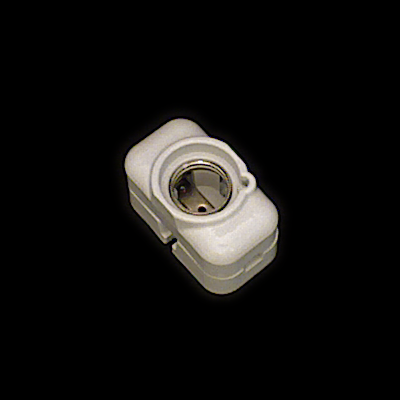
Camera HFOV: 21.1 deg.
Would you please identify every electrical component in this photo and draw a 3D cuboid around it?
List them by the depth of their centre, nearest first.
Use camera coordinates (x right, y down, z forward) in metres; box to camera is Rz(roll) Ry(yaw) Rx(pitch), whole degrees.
[{"bbox_3d":[0.000,0.000,0.634,0.054,0.095,0.059,-37,-20,-16],"label":"electrical component"}]
